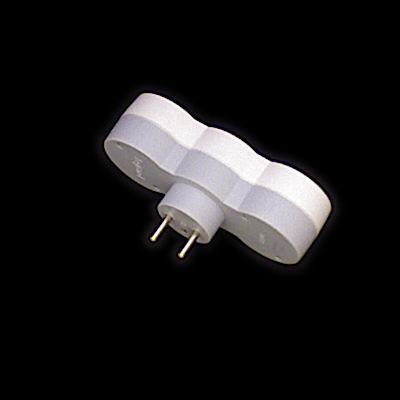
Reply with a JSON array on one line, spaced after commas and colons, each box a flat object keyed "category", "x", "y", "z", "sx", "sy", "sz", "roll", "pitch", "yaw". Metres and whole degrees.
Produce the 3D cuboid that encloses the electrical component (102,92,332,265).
[{"category": "electrical component", "x": 0.000, "y": 0.000, "z": 0.630, "sx": 0.138, "sy": 0.074, "sz": 0.052, "roll": 30, "pitch": -21, "yaw": 13}]
